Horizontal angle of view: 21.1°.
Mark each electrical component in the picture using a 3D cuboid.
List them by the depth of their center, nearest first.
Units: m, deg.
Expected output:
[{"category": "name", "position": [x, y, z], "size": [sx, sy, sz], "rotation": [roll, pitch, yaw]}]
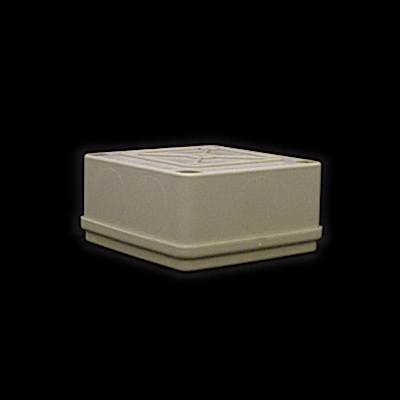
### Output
[{"category": "electrical component", "position": [0.000, 0.000, 0.647], "size": [0.109, 0.056, 0.107], "rotation": [-6, 12, -38]}]
